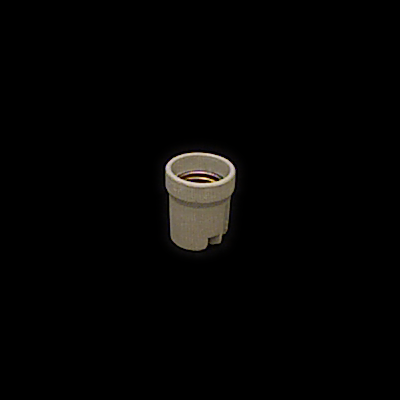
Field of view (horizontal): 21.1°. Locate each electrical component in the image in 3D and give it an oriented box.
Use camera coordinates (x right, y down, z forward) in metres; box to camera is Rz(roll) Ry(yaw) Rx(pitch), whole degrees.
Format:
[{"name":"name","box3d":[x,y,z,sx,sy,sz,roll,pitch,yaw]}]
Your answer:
[{"name":"electrical component","box3d":[0.000,0.000,0.635,0.040,0.047,0.039,1,32,0]}]
